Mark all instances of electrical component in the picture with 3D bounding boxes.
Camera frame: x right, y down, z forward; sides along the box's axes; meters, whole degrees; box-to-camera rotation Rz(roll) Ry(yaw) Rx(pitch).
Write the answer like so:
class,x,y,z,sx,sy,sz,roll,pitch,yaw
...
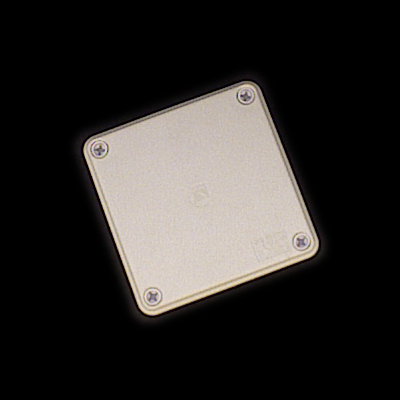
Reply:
class,x,y,z,sx,sy,sz,roll,pitch,yaw
electrical component,0.000,0.000,0.631,0.109,0.109,0.056,-20,-7,-2
